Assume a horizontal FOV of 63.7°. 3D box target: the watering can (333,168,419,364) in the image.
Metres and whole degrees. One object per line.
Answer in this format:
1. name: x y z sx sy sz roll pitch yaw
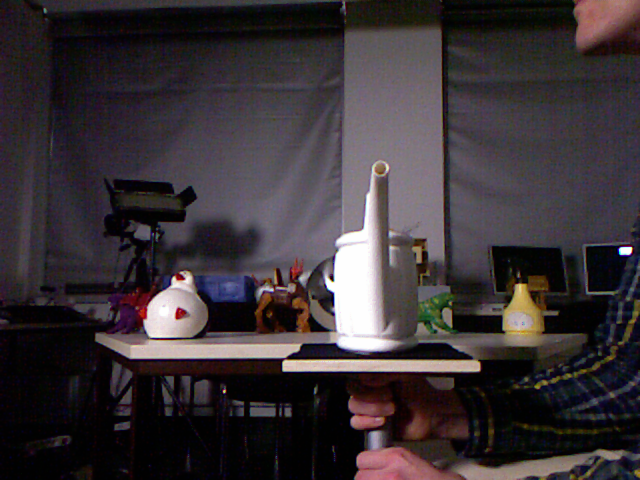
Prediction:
1. watering can: 0.064 0.039 0.597 0.104 0.226 0.348 -1 -4 5
